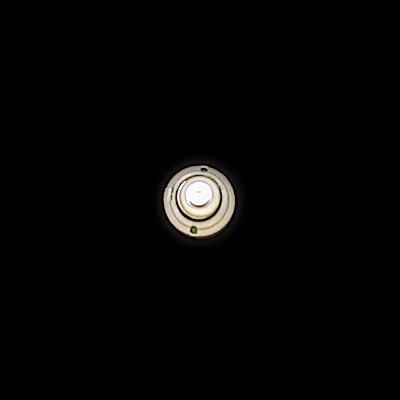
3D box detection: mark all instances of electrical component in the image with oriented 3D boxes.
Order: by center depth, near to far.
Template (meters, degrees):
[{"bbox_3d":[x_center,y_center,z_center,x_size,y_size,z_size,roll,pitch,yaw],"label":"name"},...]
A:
[{"bbox_3d":[0.000,0.000,0.618,0.040,0.040,0.078,0,-5,0],"label":"electrical component"}]
